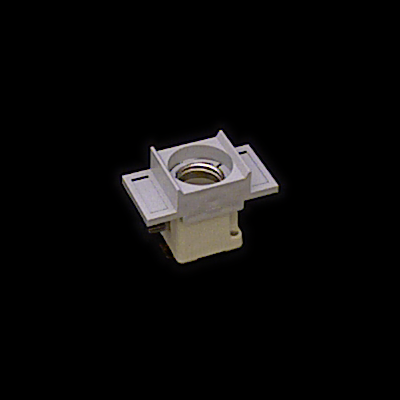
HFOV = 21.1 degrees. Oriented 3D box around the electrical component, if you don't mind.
[{"bbox_3d":[0.000,0.000,0.628,0.081,0.064,0.042,-15,45,-18],"label":"electrical component"}]
